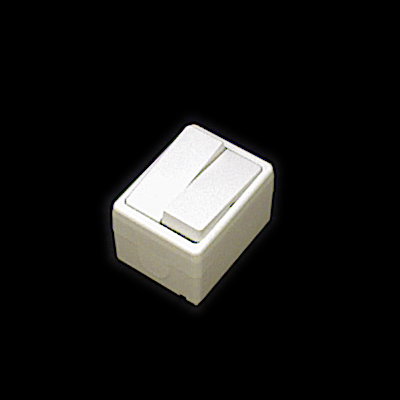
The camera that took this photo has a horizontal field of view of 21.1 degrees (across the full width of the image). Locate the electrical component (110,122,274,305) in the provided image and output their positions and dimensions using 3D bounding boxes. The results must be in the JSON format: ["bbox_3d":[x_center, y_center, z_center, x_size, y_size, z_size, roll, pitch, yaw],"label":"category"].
[{"bbox_3d":[0.000,0.000,0.629,0.061,0.096,0.061,29,-32,21],"label":"electrical component"}]
